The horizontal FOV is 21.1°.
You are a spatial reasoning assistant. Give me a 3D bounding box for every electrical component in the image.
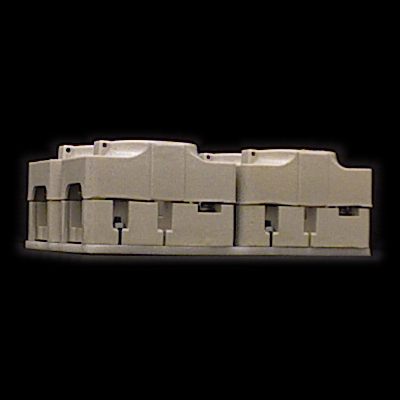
[{"bbox_3d":[0.000,0.000,0.648,0.187,0.060,0.105,1,0,-28],"label":"electrical component"}]
